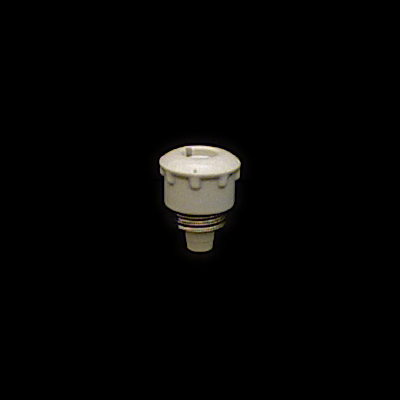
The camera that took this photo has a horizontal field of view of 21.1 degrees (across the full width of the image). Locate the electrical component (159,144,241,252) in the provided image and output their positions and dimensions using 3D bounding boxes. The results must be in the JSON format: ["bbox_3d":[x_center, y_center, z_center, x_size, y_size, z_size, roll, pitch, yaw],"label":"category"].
[{"bbox_3d":[0.000,0.000,0.644,0.048,0.062,0.047,1,21,0],"label":"electrical component"}]
